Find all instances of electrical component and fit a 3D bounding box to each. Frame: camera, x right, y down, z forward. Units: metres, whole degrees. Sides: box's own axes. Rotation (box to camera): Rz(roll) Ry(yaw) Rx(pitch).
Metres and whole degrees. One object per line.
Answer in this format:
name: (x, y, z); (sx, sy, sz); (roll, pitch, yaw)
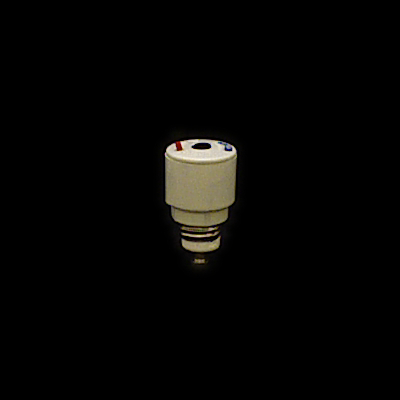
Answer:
electrical component: (0.000, 0.000, 0.635); (0.040, 0.079, 0.039); (1, 22, 0)
